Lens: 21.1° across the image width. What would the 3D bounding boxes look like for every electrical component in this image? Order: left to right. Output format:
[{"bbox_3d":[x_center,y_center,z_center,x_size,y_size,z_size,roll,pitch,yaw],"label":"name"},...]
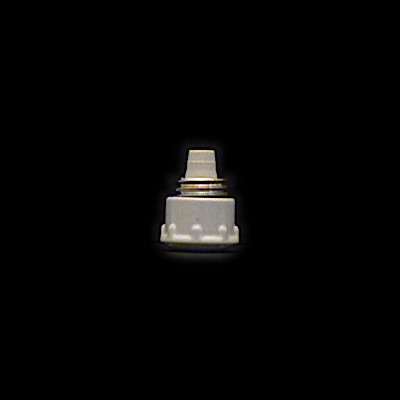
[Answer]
[{"bbox_3d":[0.000,0.000,0.655,0.048,0.062,0.048,1,3,0],"label":"electrical component"}]
